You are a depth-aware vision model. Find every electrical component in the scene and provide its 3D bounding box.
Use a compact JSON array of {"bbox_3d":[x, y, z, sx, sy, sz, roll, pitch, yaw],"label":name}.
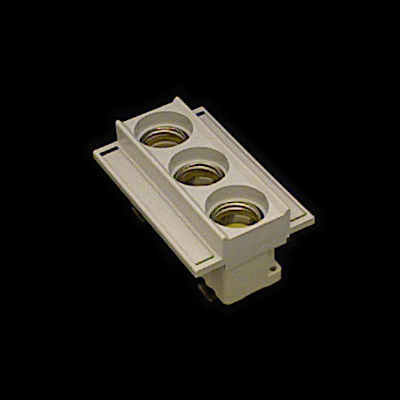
[{"bbox_3d":[0.000,0.000,0.641,0.079,0.063,0.120,-23,48,-22],"label":"electrical component"}]
